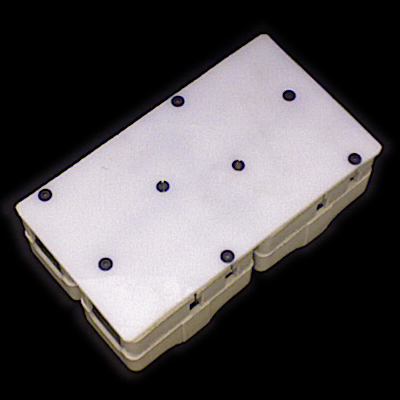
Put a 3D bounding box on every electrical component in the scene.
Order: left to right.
[{"bbox_3d":[0.000,0.000,0.625,0.187,0.105,0.060,-36,-22,-17],"label":"electrical component"}]
